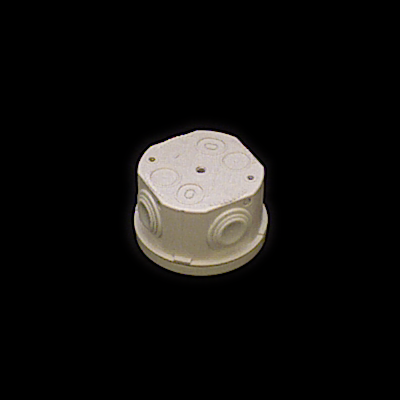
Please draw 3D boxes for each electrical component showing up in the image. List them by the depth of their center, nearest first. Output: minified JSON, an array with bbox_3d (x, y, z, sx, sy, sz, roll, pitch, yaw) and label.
[{"bbox_3d":[0.000,0.000,0.634,0.080,0.051,0.080,0,42,0],"label":"electrical component"}]
